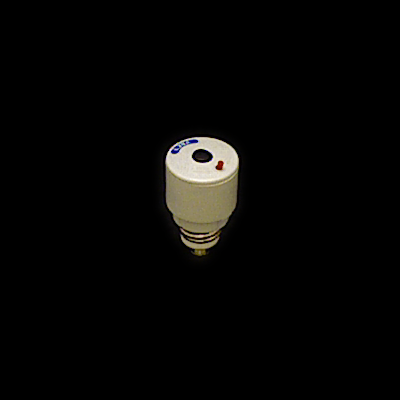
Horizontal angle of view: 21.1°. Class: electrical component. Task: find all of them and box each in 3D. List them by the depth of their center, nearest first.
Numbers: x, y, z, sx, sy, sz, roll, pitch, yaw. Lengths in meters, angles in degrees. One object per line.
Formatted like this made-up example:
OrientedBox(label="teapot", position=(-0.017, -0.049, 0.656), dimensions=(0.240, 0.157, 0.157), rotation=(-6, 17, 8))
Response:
OrientedBox(label="electrical component", position=(0.000, 0.000, 0.622), dimensions=(0.040, 0.079, 0.039), rotation=(1, 42, -1))
